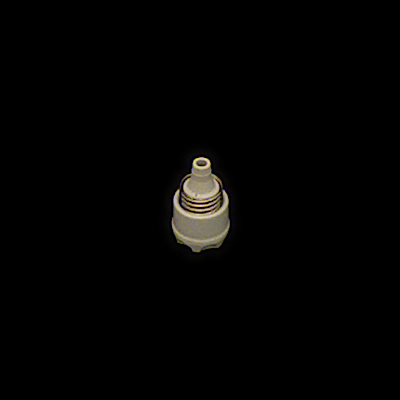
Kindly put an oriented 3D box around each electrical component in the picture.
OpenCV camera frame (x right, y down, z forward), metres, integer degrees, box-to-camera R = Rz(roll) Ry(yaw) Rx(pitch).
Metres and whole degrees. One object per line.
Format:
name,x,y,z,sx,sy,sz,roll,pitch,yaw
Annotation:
electrical component,0.000,0.000,0.644,0.035,0.062,0.034,1,44,0
